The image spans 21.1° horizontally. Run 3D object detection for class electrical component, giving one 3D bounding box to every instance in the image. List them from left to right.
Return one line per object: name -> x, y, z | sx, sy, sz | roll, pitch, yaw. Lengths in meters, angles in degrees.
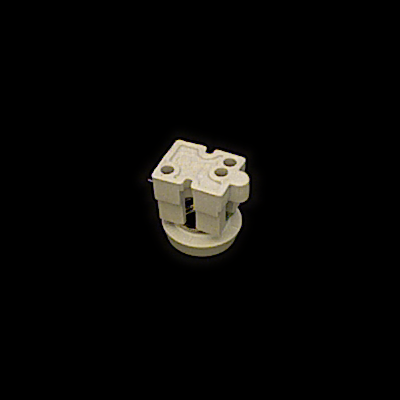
electrical component -> 0.000, 0.000, 0.641 | 0.066, 0.056, 0.048 | 17, 46, 18
